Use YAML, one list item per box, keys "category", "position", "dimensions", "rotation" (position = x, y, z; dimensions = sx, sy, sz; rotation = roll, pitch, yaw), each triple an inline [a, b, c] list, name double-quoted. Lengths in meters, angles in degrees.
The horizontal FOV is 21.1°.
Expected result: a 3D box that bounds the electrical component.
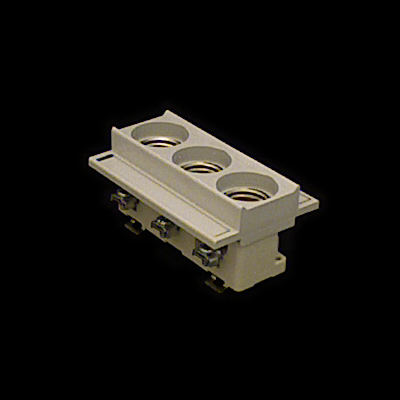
- category: "electrical component"
  position: [0.000, 0.000, 0.648]
  dimensions: [0.078, 0.064, 0.120]
  rotation: [-22, 38, -33]
